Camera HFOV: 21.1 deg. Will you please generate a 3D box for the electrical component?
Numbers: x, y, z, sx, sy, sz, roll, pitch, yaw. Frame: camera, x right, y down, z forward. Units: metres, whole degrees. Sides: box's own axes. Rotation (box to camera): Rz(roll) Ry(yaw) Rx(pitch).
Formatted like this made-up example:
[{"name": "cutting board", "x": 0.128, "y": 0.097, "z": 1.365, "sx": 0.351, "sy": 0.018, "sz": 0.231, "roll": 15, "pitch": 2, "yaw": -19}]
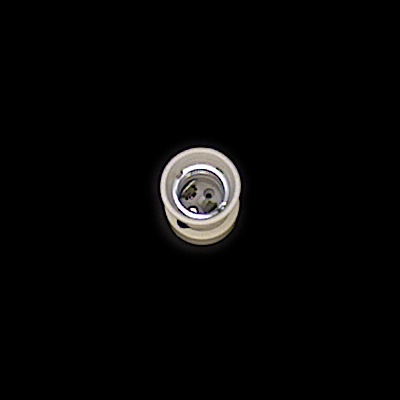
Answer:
[{"name": "electrical component", "x": 0.000, "y": 0.000, "z": 0.628, "sx": 0.045, "sy": 0.045, "sz": 0.055, "roll": 0, "pitch": -17, "yaw": 1}]
